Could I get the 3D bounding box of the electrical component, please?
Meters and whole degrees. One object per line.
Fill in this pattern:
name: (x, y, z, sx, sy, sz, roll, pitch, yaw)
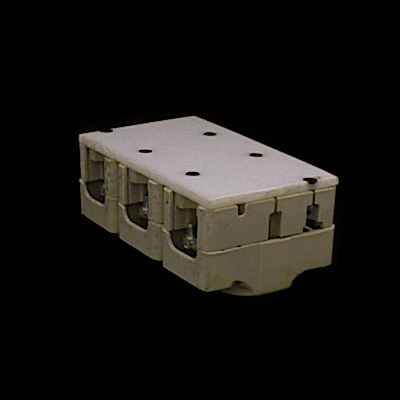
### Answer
electrical component: (0.000, 0.000, 0.646, 0.089, 0.063, 0.147, -12, 23, -31)
